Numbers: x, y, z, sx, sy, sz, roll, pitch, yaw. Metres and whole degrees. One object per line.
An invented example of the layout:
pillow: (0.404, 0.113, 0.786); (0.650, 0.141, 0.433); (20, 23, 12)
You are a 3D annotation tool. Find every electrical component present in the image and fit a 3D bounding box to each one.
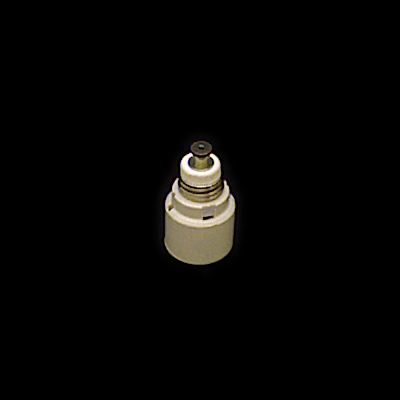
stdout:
electrical component: (0.000, 0.000, 0.624); (0.040, 0.079, 0.039); (1, 41, -1)
